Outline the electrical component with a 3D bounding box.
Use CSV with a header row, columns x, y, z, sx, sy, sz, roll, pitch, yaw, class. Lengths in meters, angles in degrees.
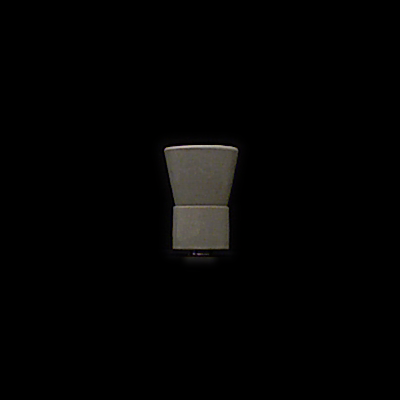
x,y,z,sx,sy,sz,roll,pitch,yaw,class
0.000,0.000,0.651,0.044,0.065,0.044,0,1,0,electrical component
